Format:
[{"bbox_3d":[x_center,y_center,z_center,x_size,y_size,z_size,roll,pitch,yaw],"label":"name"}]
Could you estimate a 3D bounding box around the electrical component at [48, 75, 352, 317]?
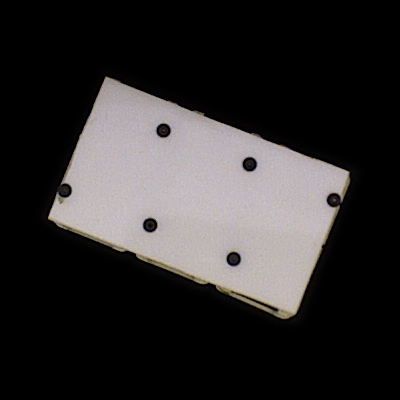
[{"bbox_3d":[0.000,0.000,0.631,0.150,0.089,0.061,22,-5,2],"label":"electrical component"}]
